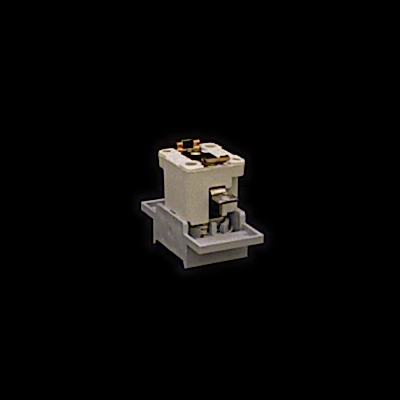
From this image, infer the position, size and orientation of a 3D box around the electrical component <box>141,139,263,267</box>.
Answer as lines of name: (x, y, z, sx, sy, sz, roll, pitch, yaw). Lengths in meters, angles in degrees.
electrical component: (0.000, 0.000, 0.638, 0.042, 0.064, 0.080, -10, 24, -26)
